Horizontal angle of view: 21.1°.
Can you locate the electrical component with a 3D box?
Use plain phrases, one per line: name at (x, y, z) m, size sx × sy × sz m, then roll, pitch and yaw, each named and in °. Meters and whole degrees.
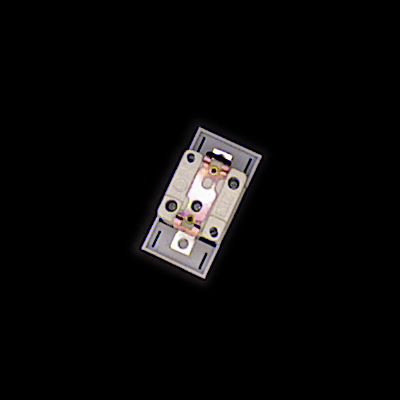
electrical component at (0.000, 0.000, 0.626) m, size 0.042 × 0.081 × 0.063 m, roll 24°, pitch -6°, yaw 3°
